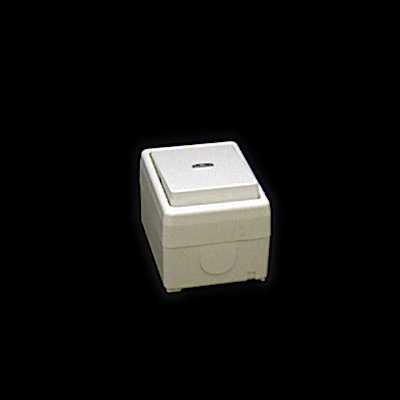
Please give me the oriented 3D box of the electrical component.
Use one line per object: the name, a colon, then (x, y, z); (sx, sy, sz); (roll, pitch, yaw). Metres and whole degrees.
electrical component: (0.000, 0.000, 0.636); (0.062, 0.062, 0.095); (-6, 32, -12)
